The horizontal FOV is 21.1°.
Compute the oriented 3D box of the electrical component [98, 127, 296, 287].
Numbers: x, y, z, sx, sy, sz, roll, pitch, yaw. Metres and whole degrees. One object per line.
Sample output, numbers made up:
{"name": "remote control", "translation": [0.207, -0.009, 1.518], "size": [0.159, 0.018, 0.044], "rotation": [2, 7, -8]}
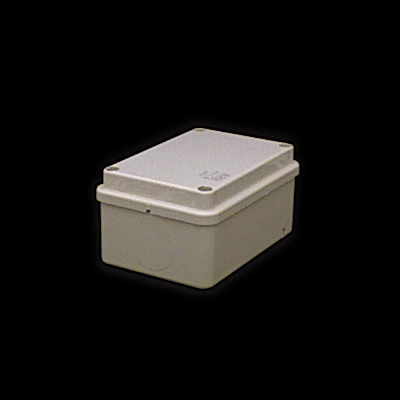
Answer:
{"name": "electrical component", "translation": [0.000, 0.000, 0.638], "size": [0.078, 0.058, 0.112], "rotation": [13, 23, 28]}
